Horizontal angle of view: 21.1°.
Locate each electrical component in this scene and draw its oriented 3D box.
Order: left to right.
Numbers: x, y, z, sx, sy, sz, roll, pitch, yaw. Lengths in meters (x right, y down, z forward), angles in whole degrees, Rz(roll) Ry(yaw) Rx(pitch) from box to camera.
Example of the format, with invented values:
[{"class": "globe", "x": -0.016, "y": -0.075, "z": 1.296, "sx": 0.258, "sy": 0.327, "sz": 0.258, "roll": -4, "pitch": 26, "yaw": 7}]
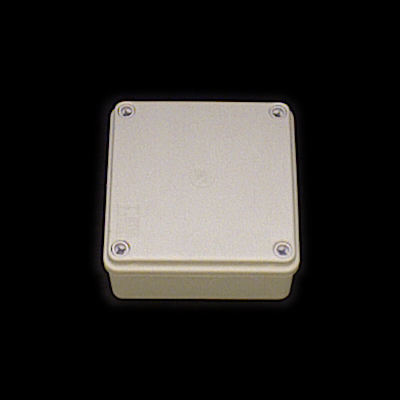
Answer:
[{"class": "electrical component", "x": 0.000, "y": 0.000, "z": 0.630, "sx": 0.109, "sy": 0.109, "sz": 0.056, "roll": 1, "pitch": -28, "yaw": 0}]
